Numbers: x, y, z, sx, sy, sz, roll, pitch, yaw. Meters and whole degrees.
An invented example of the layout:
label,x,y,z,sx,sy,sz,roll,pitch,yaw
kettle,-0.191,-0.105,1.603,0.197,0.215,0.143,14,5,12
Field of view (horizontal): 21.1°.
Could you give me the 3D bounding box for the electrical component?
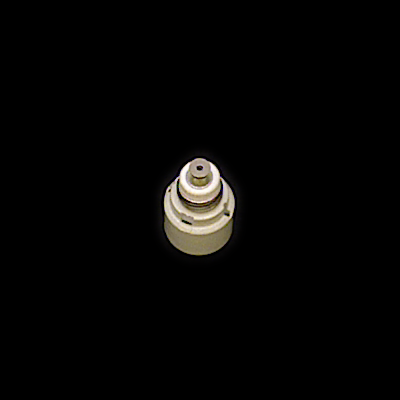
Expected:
label,x,y,z,sx,sy,sz,roll,pitch,yaw
electrical component,0.000,0.000,0.619,0.040,0.040,0.078,0,-27,-1
